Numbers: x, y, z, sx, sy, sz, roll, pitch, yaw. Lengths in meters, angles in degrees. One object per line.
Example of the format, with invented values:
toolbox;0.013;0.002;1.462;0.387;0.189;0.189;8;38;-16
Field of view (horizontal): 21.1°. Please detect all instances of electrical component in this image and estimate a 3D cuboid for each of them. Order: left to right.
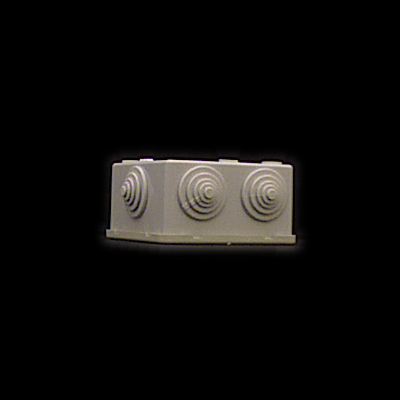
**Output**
electrical component;0.000;0.000;0.650;0.100;0.048;0.099;1;0;-27
